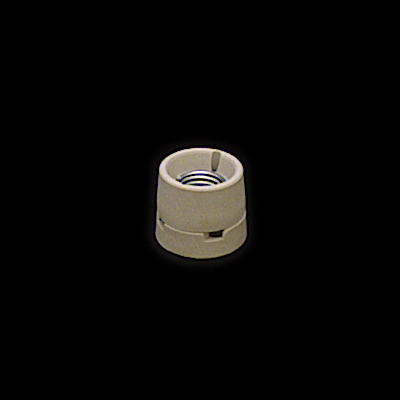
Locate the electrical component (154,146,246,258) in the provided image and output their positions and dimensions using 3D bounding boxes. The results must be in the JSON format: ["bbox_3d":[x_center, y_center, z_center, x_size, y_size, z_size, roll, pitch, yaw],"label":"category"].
[{"bbox_3d":[0.000,0.000,0.636,0.055,0.047,0.055,0,32,0],"label":"electrical component"}]
